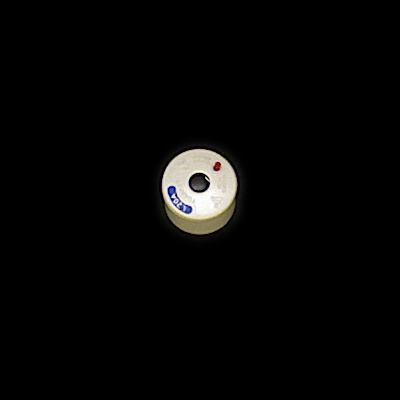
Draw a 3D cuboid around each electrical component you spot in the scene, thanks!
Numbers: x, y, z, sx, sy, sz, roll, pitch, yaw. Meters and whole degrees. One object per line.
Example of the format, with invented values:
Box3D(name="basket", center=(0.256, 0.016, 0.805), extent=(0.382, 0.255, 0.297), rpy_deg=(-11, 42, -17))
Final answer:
Box3D(name="electrical component", center=(0.000, 0.000, 0.617), extent=(0.040, 0.040, 0.078), rpy_deg=(0, -17, 0))
